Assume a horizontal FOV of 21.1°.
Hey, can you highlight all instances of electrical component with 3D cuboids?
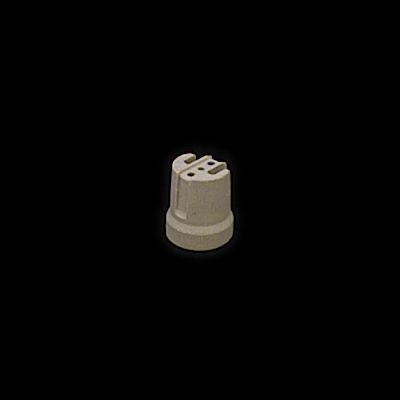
[{"bbox_3d":[0.000,0.000,0.638,0.040,0.046,0.040,1,33,0],"label":"electrical component"}]
